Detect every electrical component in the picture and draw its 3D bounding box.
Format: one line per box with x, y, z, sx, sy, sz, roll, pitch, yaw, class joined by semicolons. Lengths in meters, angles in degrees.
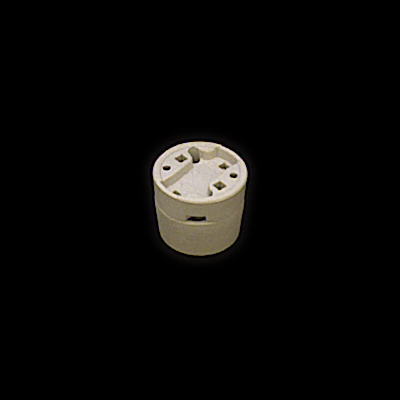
0.000;0.000;0.637;0.055;0.047;0.055;1;43;0;electrical component
